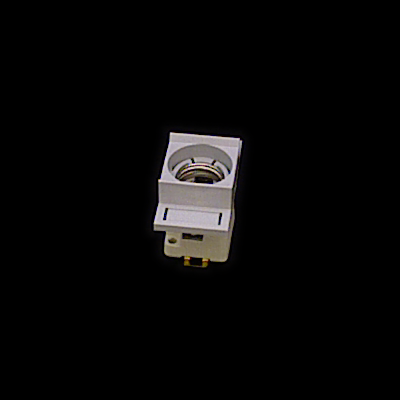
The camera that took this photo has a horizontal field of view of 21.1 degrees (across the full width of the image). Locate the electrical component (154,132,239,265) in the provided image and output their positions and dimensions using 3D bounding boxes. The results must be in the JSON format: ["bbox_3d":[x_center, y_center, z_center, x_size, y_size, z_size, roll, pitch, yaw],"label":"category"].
[{"bbox_3d":[0.000,0.000,0.631,0.042,0.064,0.080,5,42,6],"label":"electrical component"}]
